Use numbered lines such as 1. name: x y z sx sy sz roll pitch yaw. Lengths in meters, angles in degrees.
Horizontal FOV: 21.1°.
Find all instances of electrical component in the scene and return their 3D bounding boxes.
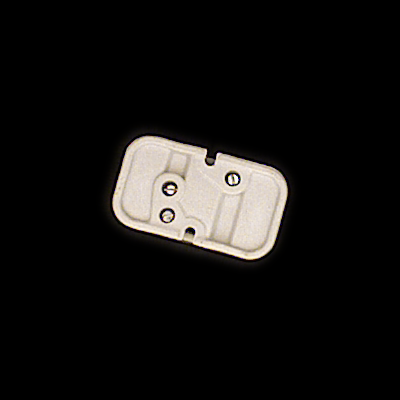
1. electrical component: 0.000 0.000 0.637 0.095 0.054 0.059 15 -5 2
